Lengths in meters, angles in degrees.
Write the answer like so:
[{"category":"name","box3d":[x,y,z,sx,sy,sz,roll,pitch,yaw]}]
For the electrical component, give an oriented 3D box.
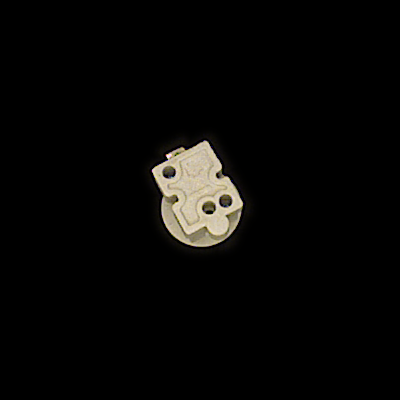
[{"category":"electrical component","box3d":[0.000,0.000,0.637,0.048,0.066,0.055,-27,-15,-6]}]
